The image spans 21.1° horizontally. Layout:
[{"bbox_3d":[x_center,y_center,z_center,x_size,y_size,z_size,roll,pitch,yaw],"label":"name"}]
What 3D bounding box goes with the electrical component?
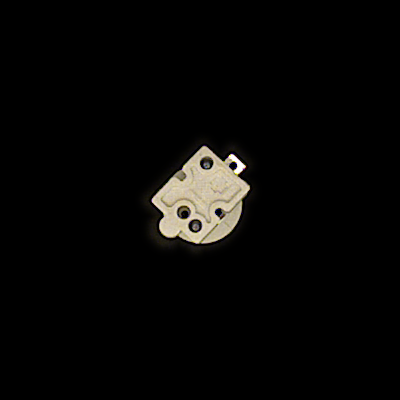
[{"bbox_3d":[0.000,0.000,0.638,0.048,0.067,0.055,44,-4,6],"label":"electrical component"}]
